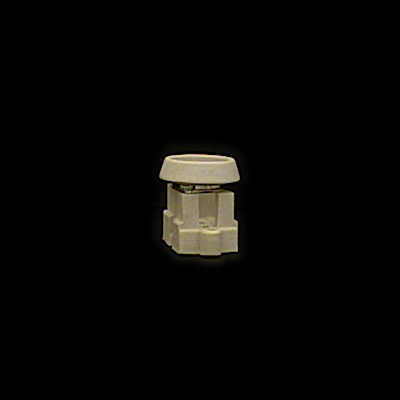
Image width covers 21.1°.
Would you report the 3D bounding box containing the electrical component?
[{"bbox_3d":[0.000,0.000,0.652,0.049,0.056,0.065,0,12,-17],"label":"electrical component"}]
